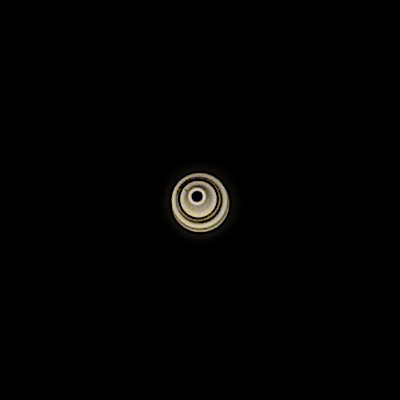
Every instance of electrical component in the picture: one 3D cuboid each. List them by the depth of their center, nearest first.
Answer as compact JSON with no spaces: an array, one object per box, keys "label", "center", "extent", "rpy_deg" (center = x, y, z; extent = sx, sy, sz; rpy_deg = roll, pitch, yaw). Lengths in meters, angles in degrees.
[{"label":"electrical component","center":[0.000,0.000,0.637],"extent":[0.035,0.035,0.061],"rpy_deg":[0,-5,2]}]
